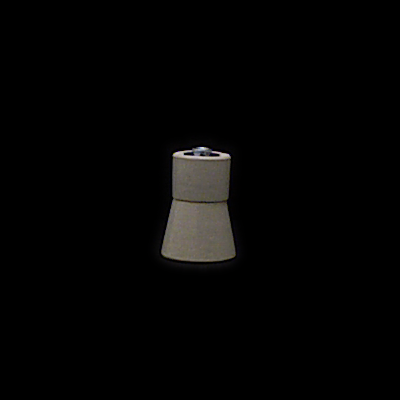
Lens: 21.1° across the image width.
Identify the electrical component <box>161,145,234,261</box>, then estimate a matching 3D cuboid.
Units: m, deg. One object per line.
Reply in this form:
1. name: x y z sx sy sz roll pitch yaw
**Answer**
1. electrical component: 0.000 0.000 0.643 0.044 0.066 0.044 2 11 0
